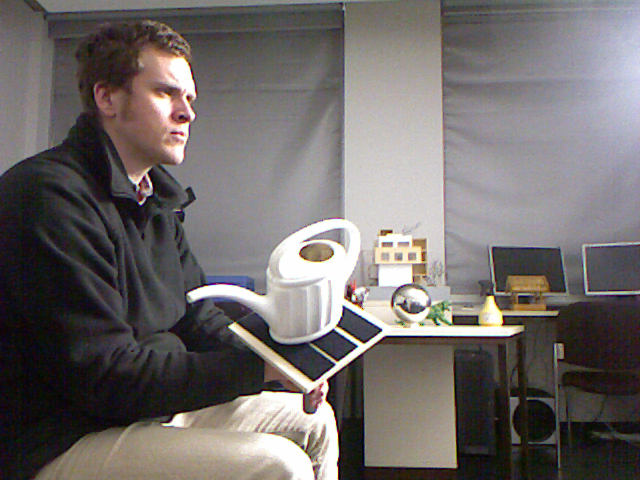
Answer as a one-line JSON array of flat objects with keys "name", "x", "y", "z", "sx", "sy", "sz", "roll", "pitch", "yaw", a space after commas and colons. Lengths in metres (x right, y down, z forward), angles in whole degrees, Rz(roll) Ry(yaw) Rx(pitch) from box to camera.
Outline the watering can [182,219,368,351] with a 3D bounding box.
[{"name": "watering can", "x": -0.055, "y": 0.088, "z": 0.834, "sx": 0.352, "sy": 0.220, "sz": 0.105, "roll": -24, "pitch": 41, "yaw": -33}]
